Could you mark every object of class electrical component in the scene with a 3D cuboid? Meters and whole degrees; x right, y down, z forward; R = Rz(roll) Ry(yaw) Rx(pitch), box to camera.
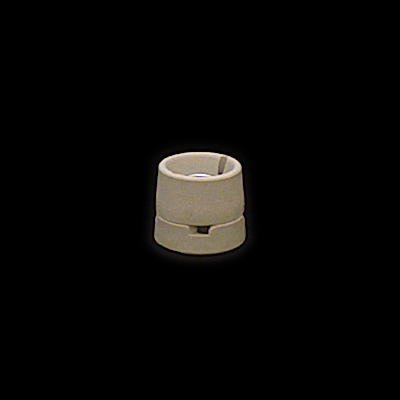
[{"bbox_3d":[0.000,0.000,0.640,0.055,0.047,0.055,0,21,0],"label":"electrical component"}]
